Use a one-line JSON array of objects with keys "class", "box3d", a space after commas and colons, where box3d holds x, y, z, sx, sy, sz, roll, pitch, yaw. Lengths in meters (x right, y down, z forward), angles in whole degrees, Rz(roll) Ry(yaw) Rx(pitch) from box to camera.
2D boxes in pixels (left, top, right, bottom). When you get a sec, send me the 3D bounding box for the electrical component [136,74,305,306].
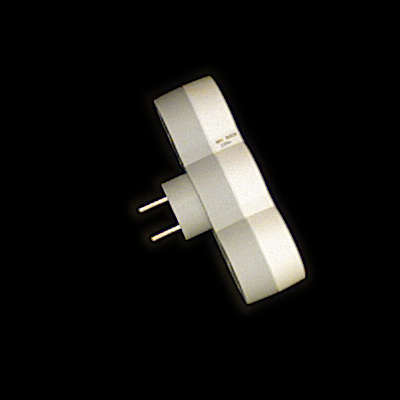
[{"class": "electrical component", "box3d": [0.000, 0.000, 0.638, 0.074, 0.138, 0.052, -24, -15, -5]}]
